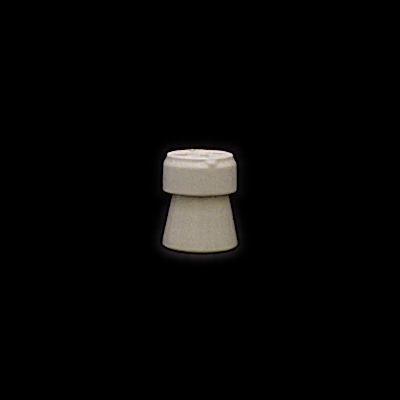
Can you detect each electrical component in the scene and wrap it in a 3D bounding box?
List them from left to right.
[{"bbox_3d":[0.000,0.000,0.644,0.045,0.055,0.044,1,11,0],"label":"electrical component"}]
